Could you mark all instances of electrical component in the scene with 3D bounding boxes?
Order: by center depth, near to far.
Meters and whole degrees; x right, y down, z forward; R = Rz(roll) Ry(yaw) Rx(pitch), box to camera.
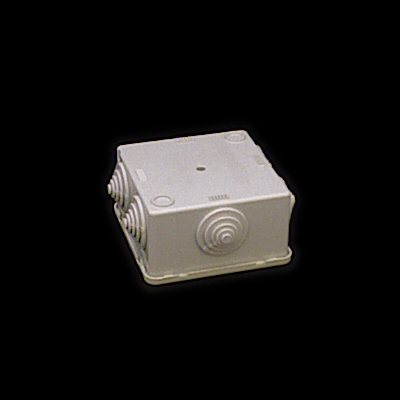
[{"bbox_3d":[0.000,0.000,0.638,0.100,0.049,0.098,-8,33,-15],"label":"electrical component"}]
